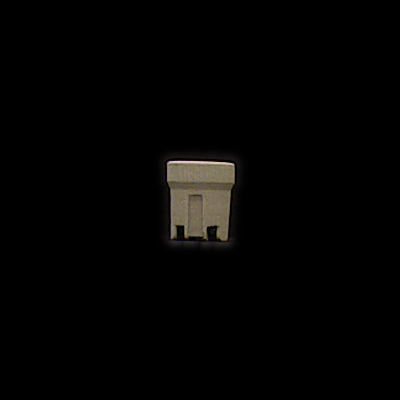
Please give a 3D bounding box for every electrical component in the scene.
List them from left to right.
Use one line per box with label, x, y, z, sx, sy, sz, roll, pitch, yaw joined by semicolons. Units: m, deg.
electrical component;0.000;0.000;0.647;0.040;0.046;0.040;1;1;1
